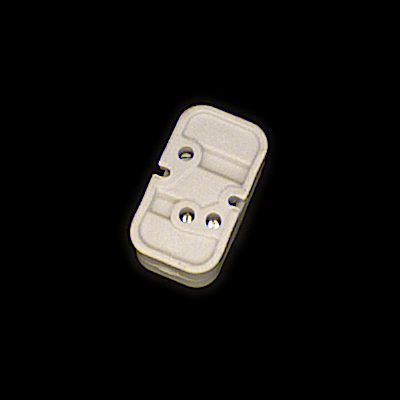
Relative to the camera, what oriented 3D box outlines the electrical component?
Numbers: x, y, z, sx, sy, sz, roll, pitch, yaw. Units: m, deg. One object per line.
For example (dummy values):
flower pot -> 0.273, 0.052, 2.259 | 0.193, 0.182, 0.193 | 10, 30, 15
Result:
electrical component -> 0.000, 0.000, 0.635 | 0.053, 0.095, 0.059 | 22, -15, 6
